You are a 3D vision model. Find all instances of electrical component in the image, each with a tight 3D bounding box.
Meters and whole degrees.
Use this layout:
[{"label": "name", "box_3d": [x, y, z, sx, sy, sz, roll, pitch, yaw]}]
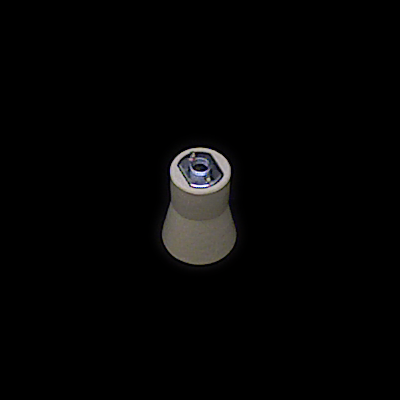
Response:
[{"label": "electrical component", "box_3d": [0.000, 0.000, 0.627, 0.044, 0.044, 0.065, 0, -39, -2]}]
